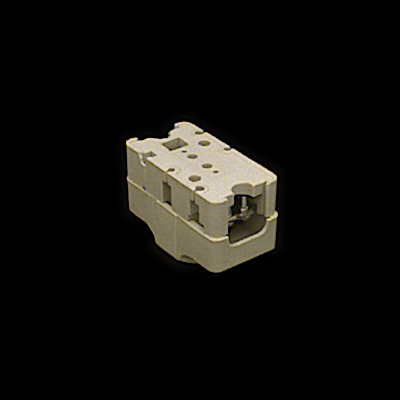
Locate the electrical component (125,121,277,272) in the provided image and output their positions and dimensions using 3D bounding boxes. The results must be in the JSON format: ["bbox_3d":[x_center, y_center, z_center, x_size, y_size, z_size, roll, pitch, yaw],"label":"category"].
[{"bbox_3d":[0.000,0.000,0.642,0.050,0.056,0.088,-23,39,-31],"label":"electrical component"}]
